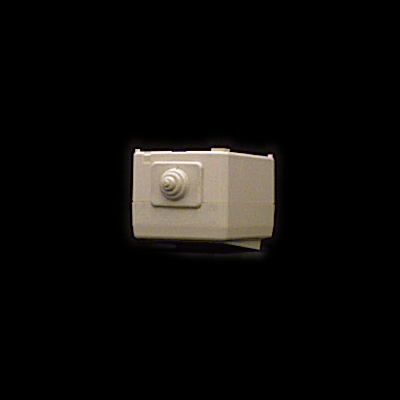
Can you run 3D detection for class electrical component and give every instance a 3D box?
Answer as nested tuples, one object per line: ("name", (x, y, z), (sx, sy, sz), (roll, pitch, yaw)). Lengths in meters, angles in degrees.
("electrical component", (0.000, 0.000, 0.650), (0.061, 0.061, 0.096), (2, 1, 24))
